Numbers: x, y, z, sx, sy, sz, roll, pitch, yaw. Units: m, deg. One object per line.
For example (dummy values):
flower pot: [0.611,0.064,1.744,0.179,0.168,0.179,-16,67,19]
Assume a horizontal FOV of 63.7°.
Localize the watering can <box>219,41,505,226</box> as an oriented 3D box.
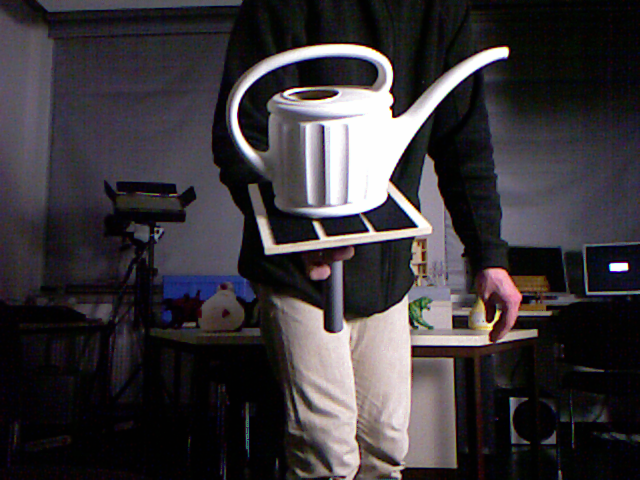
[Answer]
watering can: [0.056,-0.131,0.638,0.348,0.219,0.106,-7,32,-9]
